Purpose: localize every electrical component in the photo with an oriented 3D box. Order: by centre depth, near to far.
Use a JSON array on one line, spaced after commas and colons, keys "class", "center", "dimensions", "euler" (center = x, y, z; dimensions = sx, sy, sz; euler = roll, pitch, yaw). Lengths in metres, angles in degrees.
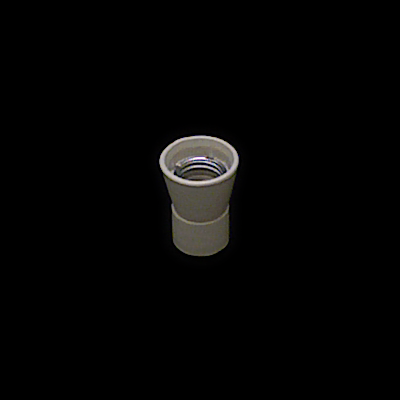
[{"class": "electrical component", "center": [0.000, 0.000, 0.629], "dimensions": [0.044, 0.066, 0.044], "euler": [0, 42, 1]}]
